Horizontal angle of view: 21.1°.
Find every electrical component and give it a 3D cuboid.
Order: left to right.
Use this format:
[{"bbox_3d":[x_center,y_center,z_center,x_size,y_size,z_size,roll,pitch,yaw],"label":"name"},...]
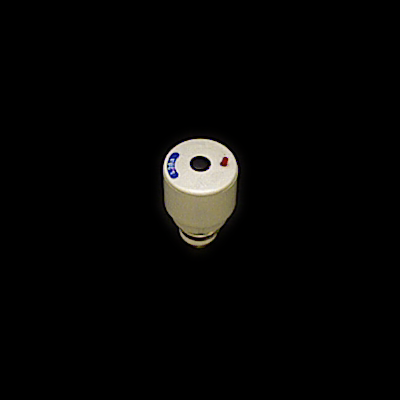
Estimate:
[{"bbox_3d":[0.000,0.000,0.620,0.040,0.040,0.079,0,-38,-1],"label":"electrical component"}]
